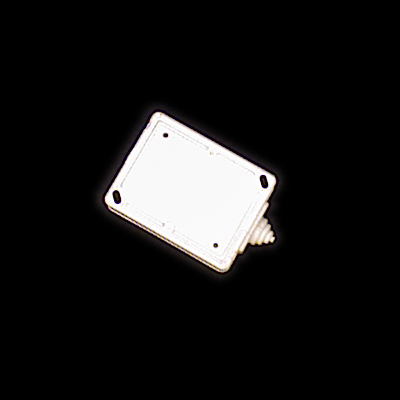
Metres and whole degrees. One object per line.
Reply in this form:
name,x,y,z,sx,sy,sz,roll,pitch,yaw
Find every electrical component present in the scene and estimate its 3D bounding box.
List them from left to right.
electrical component,0.000,0.000,0.629,0.096,0.062,0.061,29,-5,3
